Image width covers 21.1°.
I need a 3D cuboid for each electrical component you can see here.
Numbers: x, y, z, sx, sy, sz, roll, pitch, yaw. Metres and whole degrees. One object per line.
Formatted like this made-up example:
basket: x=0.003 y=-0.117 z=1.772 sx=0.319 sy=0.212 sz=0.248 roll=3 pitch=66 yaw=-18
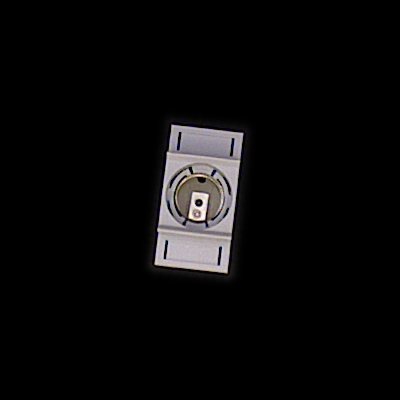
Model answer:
electrical component: x=0.000 y=0.000 z=0.624 sx=0.042 sy=0.081 sz=0.063 roll=7 pitch=-7 yaw=0
